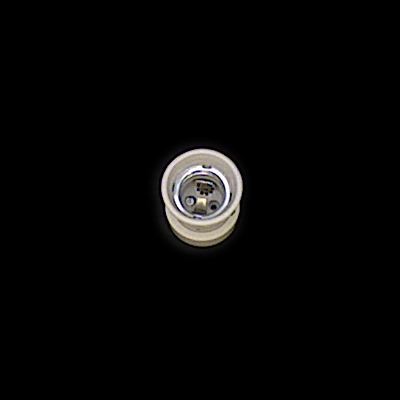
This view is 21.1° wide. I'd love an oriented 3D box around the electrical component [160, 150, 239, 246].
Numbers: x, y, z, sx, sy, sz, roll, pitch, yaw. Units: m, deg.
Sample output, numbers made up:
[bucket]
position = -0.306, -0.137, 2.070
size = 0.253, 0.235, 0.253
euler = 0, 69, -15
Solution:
[electrical component]
position = 0.000, 0.000, 0.628
size = 0.045, 0.045, 0.055
euler = 0, -17, 0
